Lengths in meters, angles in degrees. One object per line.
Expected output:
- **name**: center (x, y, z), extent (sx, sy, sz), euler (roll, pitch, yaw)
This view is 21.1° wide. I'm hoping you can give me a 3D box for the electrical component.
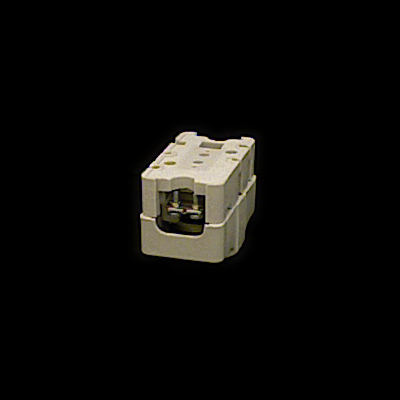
- **electrical component**: center (0.000, 0.000, 0.646), extent (0.050, 0.056, 0.089), euler (6, 22, 14)
